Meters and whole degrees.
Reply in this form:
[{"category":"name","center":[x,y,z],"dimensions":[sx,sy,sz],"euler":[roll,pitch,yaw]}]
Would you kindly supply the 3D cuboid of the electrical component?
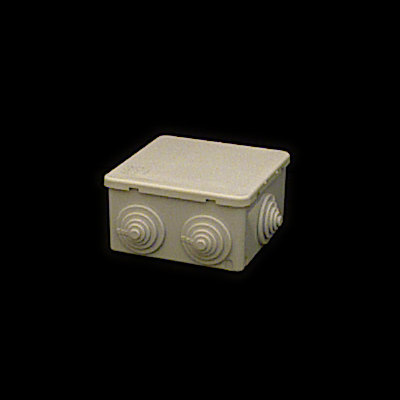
[{"category":"electrical component","center":[0.000,0.000,0.647],"dimensions":[0.099,0.049,0.099],"euler":[9,23,19]}]
